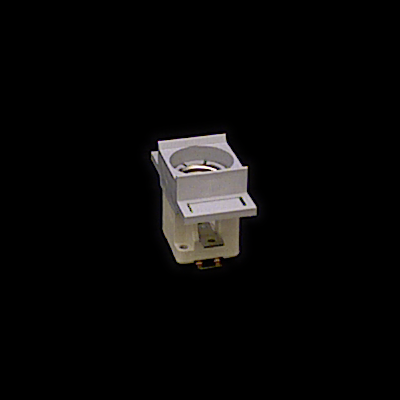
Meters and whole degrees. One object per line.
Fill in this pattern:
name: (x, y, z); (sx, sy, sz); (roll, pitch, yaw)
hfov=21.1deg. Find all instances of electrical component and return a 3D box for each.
electrical component: (0.000, 0.000, 0.631); (0.042, 0.064, 0.079); (-6, 32, -14)
